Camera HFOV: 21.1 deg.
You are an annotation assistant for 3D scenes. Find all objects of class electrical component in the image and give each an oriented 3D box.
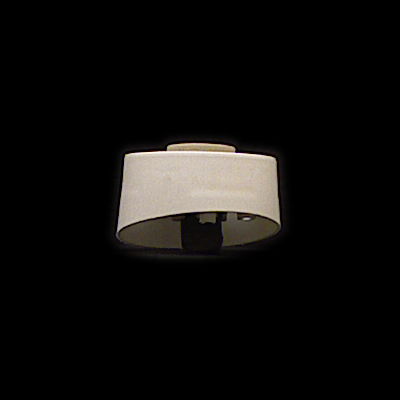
[{"bbox_3d":[0.000,0.000,0.649,0.099,0.064,0.099,1,-1,0],"label":"electrical component"}]
